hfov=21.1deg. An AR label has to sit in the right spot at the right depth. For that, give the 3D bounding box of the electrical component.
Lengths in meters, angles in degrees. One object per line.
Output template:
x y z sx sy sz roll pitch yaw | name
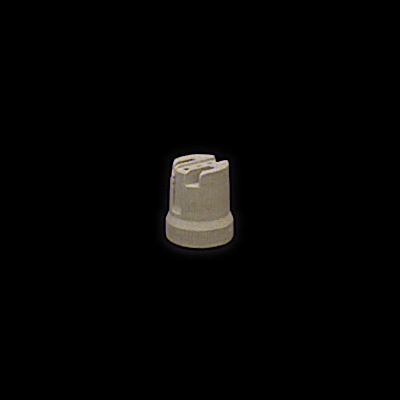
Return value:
0.000 0.000 0.642 0.040 0.046 0.040 1 21 0 | electrical component
